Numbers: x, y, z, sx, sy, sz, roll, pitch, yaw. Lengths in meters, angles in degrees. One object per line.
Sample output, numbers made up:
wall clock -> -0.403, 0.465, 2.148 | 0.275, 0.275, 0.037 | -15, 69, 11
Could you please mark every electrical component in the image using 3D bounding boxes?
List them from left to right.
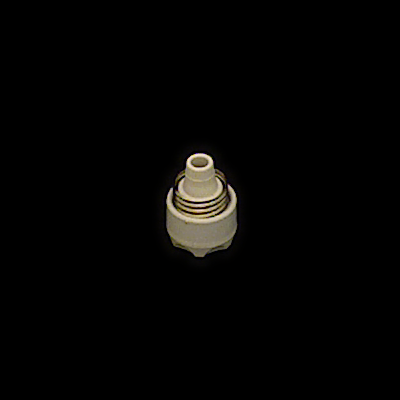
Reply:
electrical component -> 0.000, 0.000, 0.638 | 0.043, 0.062, 0.043 | 0, 43, 1
